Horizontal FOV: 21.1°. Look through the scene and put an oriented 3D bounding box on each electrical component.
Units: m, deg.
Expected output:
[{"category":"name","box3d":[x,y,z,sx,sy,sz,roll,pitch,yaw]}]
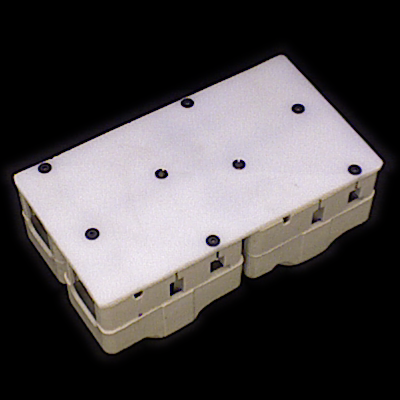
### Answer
[{"category":"electrical component","box3d":[0.000,0.000,0.627,0.186,0.105,0.060,-26,-33,-20]}]
